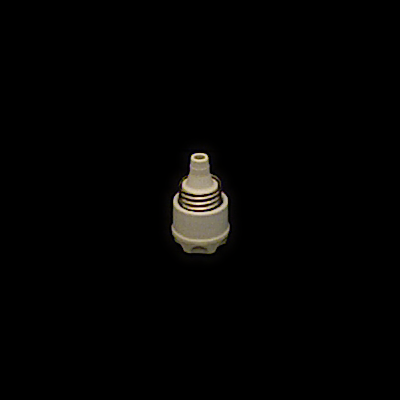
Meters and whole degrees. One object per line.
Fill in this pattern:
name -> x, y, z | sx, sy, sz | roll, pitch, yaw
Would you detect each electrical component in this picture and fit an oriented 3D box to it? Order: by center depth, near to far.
electrical component -> 0.000, 0.000, 0.645 | 0.035, 0.062, 0.034 | -1, 31, 1
